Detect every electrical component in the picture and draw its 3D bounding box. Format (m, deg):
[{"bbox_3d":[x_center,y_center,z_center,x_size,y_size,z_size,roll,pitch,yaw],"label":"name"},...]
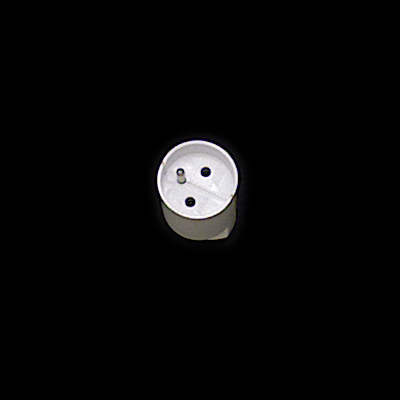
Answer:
[{"bbox_3d":[0.000,0.000,0.615,0.043,0.043,0.080,0,-17,0],"label":"electrical component"}]
